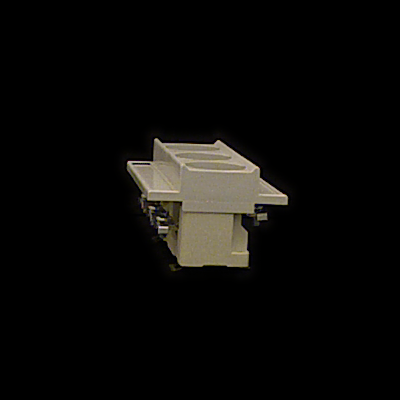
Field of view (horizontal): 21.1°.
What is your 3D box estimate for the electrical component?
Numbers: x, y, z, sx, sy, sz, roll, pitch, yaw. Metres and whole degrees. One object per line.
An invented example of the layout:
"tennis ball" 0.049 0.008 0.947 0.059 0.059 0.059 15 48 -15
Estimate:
"electrical component" 0.000 0.000 0.658 0.079 0.063 0.120 1 11 -9
